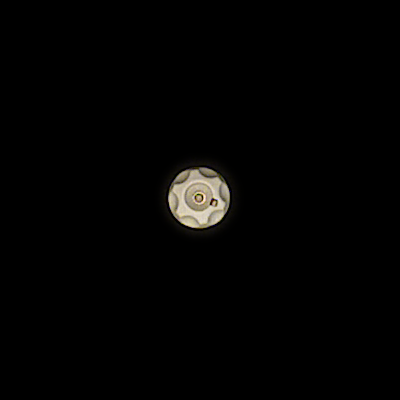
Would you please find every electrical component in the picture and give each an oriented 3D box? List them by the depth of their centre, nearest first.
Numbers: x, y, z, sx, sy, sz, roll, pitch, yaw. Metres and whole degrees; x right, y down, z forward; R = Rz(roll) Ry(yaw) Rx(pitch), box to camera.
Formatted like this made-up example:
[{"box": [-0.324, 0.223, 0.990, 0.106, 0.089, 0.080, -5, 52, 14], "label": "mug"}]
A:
[{"box": [0.000, 0.000, 0.634, 0.035, 0.035, 0.061, 0, -5, 1], "label": "electrical component"}]
